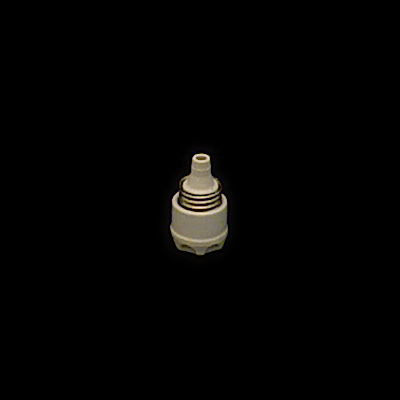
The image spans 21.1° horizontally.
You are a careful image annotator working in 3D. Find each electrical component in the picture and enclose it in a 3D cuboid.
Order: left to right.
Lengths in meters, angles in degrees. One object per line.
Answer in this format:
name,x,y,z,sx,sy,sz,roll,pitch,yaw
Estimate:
electrical component,0.000,0.000,0.647,0.035,0.062,0.034,2,32,-1
